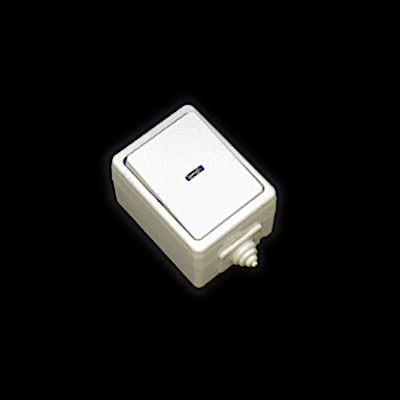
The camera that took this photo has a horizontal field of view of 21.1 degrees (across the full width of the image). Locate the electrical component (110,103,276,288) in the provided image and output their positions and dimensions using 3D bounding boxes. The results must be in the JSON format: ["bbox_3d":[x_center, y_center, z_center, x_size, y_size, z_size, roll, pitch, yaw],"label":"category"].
[{"bbox_3d":[0.000,0.000,0.625,0.062,0.096,0.060,-37,-21,-17],"label":"electrical component"}]
